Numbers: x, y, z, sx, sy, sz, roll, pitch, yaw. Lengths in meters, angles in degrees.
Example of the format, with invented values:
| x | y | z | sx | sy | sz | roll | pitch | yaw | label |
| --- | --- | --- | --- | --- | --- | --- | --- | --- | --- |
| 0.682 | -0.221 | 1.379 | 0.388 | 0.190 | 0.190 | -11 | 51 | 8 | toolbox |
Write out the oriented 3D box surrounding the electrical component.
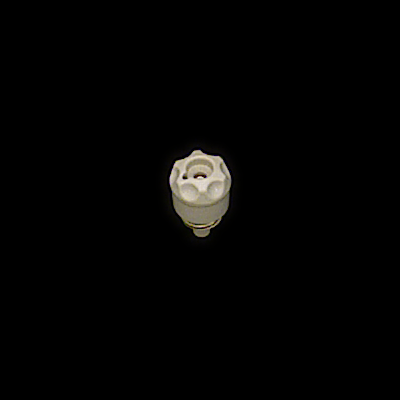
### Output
| x | y | z | sx | sy | sz | roll | pitch | yaw | label |
| --- | --- | --- | --- | --- | --- | --- | --- | --- | --- |
| 0.000 | 0.000 | 0.635 | 0.035 | 0.035 | 0.062 | 0 | -37 | 1 | electrical component |
